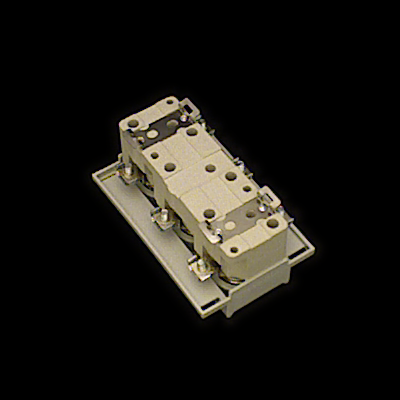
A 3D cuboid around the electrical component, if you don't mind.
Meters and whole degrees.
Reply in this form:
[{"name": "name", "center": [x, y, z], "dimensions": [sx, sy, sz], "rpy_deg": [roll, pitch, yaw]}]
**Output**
[{"name": "electrical component", "center": [0.000, 0.000, 0.633], "dimensions": [0.079, 0.120, 0.063], "rpy_deg": [-29, -32, -19]}]
